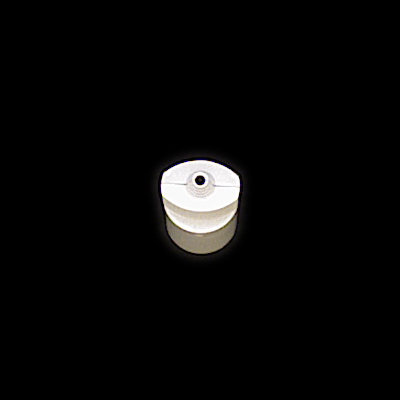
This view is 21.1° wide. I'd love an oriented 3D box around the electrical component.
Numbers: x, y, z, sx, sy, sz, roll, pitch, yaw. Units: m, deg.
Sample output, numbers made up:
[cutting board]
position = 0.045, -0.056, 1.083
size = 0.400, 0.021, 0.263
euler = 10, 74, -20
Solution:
[electrical component]
position = 0.000, 0.000, 0.616
size = 0.043, 0.043, 0.080
euler = 0, -17, 1
